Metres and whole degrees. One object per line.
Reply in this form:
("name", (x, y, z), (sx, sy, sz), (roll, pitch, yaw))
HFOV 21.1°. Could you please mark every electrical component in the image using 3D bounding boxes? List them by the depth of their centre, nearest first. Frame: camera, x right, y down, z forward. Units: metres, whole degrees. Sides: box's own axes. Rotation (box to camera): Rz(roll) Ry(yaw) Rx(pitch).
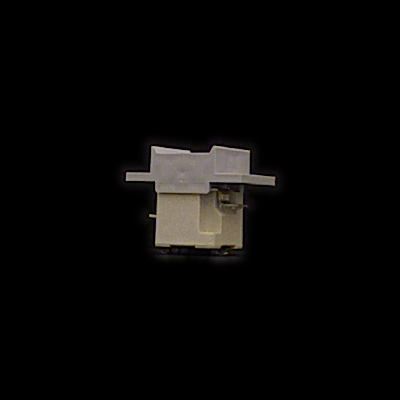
("electrical component", (0.000, 0.000, 0.650), (0.080, 0.064, 0.042), (2, 2, 31))
